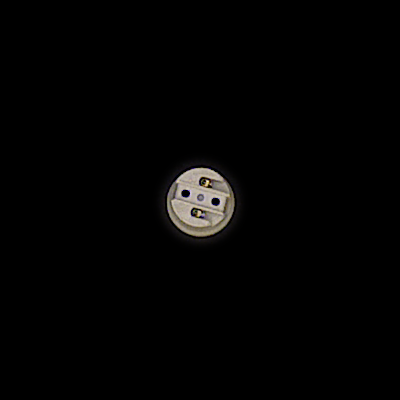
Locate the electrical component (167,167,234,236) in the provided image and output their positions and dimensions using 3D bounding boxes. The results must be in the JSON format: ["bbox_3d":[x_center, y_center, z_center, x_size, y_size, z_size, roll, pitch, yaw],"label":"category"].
[{"bbox_3d":[0.000,0.000,0.634,0.040,0.040,0.046,0,-6,1],"label":"electrical component"}]
